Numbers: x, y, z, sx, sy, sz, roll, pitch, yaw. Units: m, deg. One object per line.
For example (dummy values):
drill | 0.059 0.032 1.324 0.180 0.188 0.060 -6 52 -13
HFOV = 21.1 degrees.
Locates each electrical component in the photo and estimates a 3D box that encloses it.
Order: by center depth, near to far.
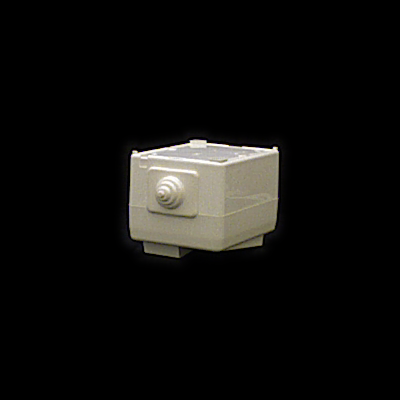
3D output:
electrical component | 0.000 0.000 0.637 0.061 0.061 0.096 7 11 27
